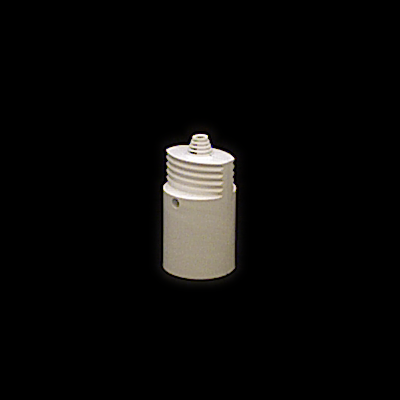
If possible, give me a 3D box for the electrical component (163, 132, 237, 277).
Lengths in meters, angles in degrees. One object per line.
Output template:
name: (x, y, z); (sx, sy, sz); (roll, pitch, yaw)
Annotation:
electrical component: (0.000, 0.000, 0.635); (0.043, 0.082, 0.042); (1, 21, 0)
